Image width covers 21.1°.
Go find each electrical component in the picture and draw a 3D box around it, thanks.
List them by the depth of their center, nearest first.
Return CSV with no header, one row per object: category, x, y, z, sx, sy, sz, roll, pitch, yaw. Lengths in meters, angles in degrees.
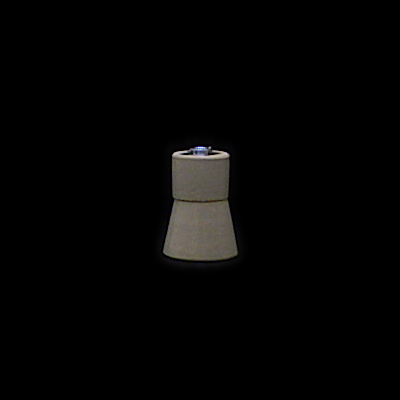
electrical component,0.000,0.000,0.646,0.044,0.066,0.044,0,11,0
